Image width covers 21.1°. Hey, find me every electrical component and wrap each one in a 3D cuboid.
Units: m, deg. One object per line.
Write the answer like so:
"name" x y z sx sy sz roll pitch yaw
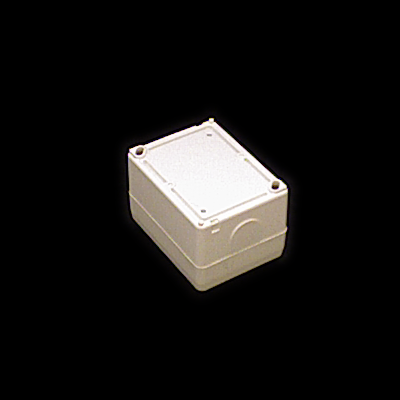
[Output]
"electrical component" 0.000 0.000 0.633 0.061 0.061 0.095 -23 47 -24
